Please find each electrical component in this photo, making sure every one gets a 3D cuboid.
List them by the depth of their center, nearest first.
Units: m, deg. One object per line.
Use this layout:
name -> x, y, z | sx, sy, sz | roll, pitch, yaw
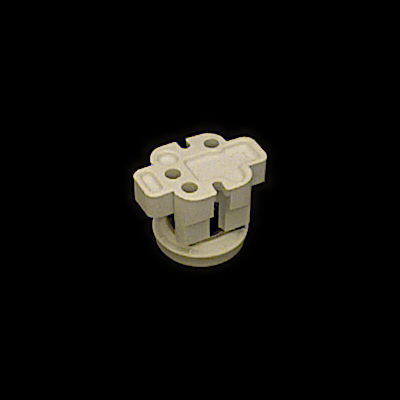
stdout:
electrical component -> 0.000, 0.000, 0.641 | 0.079, 0.057, 0.057 | -19, 45, -22
